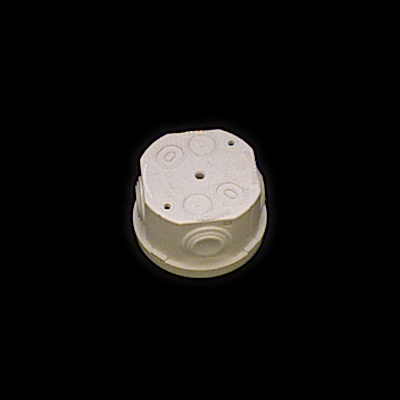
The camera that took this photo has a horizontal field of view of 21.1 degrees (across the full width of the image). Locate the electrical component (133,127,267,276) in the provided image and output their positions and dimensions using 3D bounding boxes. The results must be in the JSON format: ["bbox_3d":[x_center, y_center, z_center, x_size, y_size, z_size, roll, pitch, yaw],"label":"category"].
[{"bbox_3d":[0.000,0.000,0.631,0.080,0.080,0.051,0,-37,0],"label":"electrical component"}]
